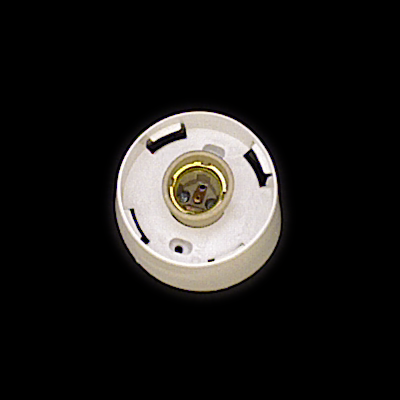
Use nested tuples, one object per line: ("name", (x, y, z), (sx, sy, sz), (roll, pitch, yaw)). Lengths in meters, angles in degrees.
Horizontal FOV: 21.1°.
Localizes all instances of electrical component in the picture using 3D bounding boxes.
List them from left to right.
("electrical component", (0.000, 0.000, 0.624), (0.099, 0.099, 0.064), (0, -17, -1))
